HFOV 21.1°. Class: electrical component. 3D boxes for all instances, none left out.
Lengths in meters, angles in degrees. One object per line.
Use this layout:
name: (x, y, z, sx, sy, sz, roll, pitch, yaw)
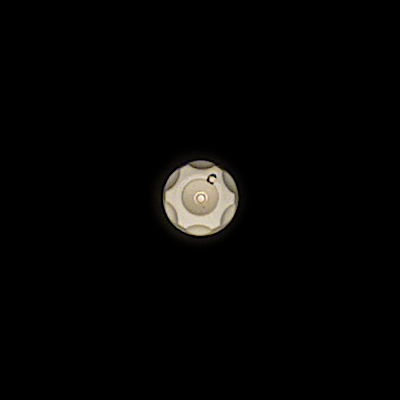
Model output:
electrical component: (0.000, 0.000, 0.635, 0.043, 0.043, 0.062, 0, -4, 1)
